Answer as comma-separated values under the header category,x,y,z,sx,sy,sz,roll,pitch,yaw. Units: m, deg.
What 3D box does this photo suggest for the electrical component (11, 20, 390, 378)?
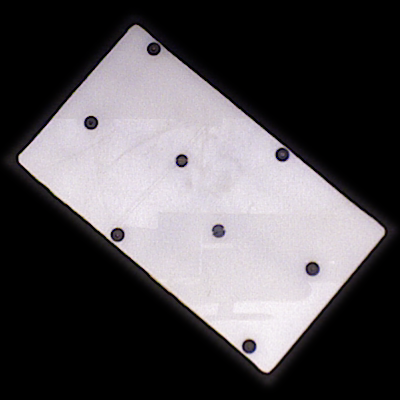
category,x,y,z,sx,sy,sz,roll,pitch,yaw
electrical component,0.000,0.000,0.626,0.186,0.106,0.060,40,-5,4
